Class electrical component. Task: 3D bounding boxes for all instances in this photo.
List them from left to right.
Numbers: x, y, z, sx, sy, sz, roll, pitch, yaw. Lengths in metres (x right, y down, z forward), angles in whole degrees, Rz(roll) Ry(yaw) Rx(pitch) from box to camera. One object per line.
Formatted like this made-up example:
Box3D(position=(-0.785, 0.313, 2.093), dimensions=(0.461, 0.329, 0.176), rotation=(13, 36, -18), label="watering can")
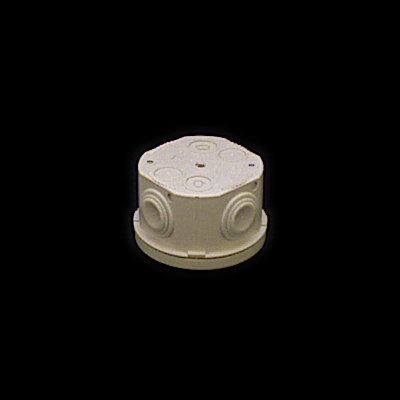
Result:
Box3D(position=(0.000, 0.000, 0.637), dimensions=(0.080, 0.051, 0.079), rotation=(0, 31, 0), label="electrical component")
